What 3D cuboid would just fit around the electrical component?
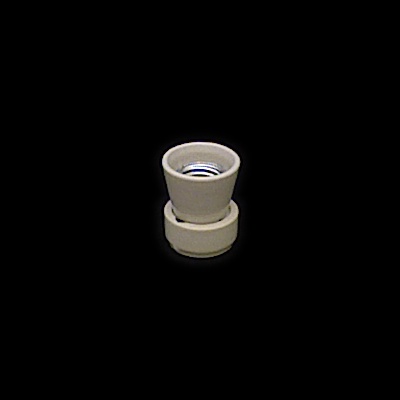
[{"bbox_3d":[0.000,0.000,0.635,0.045,0.056,0.044,1,31,0],"label":"electrical component"}]
